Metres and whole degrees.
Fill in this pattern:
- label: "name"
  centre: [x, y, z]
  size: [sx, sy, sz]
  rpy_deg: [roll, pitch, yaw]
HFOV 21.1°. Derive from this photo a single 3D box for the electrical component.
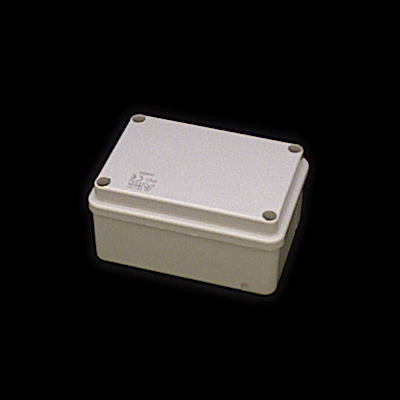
- label: "electrical component"
  centre: [0.000, 0.000, 0.629]
  size: [0.113, 0.057, 0.077]
  rpy_deg: [12, 43, 11]
